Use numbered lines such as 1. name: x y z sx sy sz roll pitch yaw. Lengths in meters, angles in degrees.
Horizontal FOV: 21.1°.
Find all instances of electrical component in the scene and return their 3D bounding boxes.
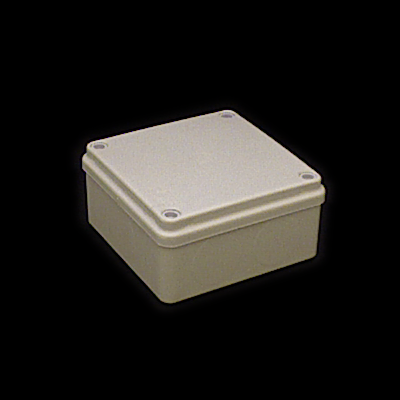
1. electrical component: 0.000 0.000 0.637 0.109 0.057 0.107 -16 35 -26
